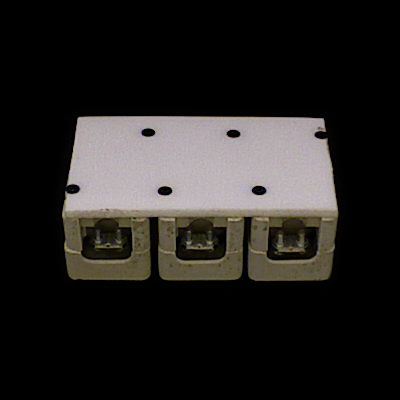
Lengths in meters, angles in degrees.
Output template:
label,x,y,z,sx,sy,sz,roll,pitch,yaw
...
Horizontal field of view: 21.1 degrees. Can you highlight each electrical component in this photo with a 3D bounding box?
label,x,y,z,sx,sy,sz,roll,pitch,yaw
electrical component,0.000,0.000,0.635,0.150,0.063,0.088,0,41,0
